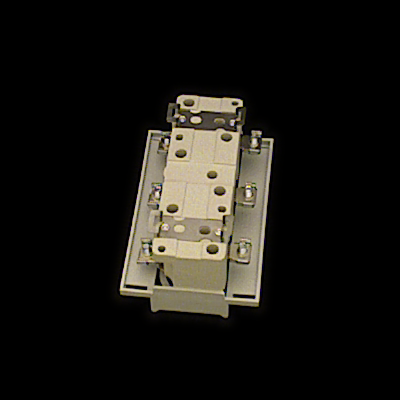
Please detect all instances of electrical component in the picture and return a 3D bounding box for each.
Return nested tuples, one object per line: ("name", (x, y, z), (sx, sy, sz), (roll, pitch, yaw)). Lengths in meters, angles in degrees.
("electrical component", (0.000, 0.000, 0.634), (0.078, 0.121, 0.063), (4, -37, 4))
